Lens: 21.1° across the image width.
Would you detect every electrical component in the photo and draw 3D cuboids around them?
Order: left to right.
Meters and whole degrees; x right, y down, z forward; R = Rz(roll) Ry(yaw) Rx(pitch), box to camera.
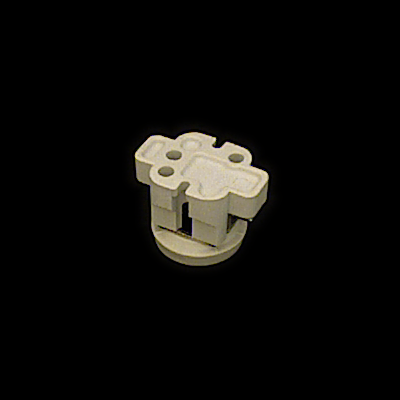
[{"bbox_3d":[0.000,0.000,0.640,0.078,0.057,0.057,19,45,17],"label":"electrical component"}]
